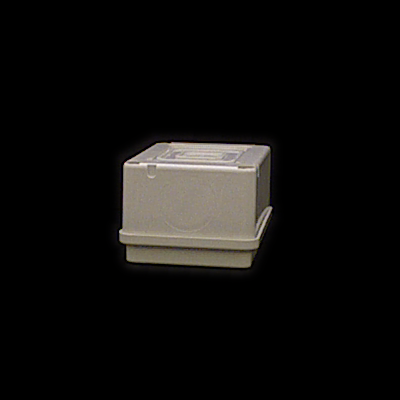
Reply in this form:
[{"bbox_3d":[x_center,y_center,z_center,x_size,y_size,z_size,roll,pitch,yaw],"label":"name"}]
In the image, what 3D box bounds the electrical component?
[{"bbox_3d":[0.000,0.000,0.645,0.078,0.057,0.112,3,10,8],"label":"electrical component"}]
